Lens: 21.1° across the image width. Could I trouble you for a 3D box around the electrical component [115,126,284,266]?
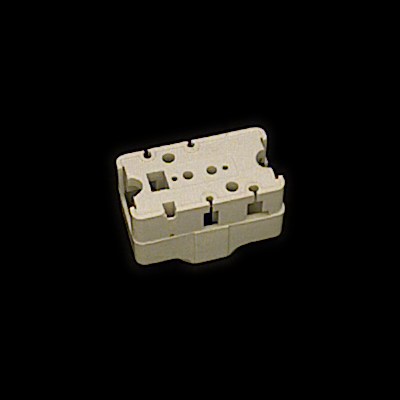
[{"bbox_3d":[0.000,0.000,0.637,0.090,0.050,0.056,-12,-35,-9],"label":"electrical component"}]
